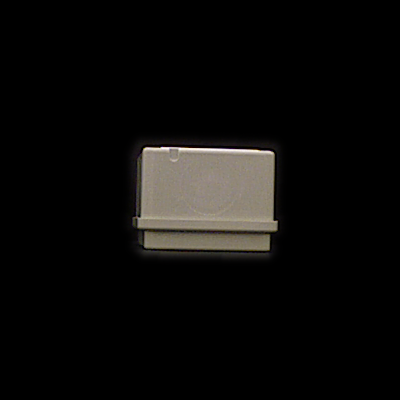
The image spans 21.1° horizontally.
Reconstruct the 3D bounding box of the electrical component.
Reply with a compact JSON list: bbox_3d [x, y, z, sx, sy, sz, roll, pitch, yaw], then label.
[{"bbox_3d":[0.000,0.000,0.649,0.078,0.057,0.113,1,0,-5],"label":"electrical component"}]
